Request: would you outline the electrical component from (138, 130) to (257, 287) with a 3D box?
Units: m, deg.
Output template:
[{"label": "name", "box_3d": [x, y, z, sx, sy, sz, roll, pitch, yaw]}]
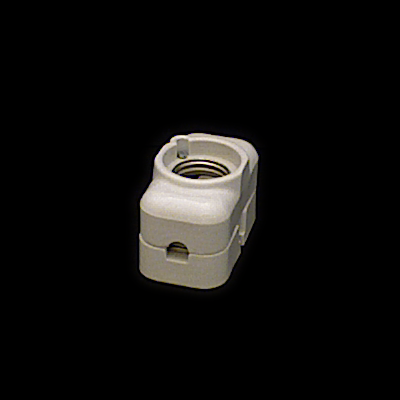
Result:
[{"label": "electrical component", "box_3d": [0.000, 0.000, 0.641, 0.053, 0.060, 0.094, 9, 33, 12]}]
